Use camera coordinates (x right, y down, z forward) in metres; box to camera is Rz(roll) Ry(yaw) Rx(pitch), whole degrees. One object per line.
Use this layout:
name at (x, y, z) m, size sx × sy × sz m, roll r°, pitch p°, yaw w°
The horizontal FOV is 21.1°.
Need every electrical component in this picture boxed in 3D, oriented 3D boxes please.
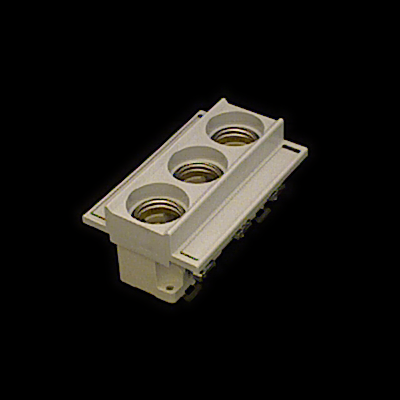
electrical component at (0.000, 0.000, 0.642) m, size 0.078 × 0.064 × 0.121 m, roll 23°, pitch 47°, yaw 25°
